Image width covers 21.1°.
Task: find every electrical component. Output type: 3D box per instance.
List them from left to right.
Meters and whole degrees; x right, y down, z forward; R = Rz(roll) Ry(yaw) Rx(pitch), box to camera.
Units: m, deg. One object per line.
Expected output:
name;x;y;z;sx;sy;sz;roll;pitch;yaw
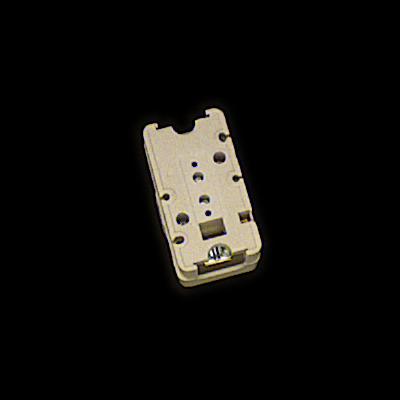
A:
electrical component;0.000;0.000;0.636;0.050;0.090;0.055;-14;-15;-4
